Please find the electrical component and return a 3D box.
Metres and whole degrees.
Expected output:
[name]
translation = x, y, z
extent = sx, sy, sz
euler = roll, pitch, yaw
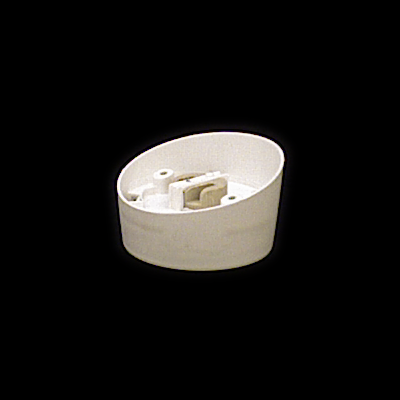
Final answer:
[electrical component]
translation = 0.000, 0.000, 0.639
extent = 0.099, 0.065, 0.097
euler = 1, 20, 0
